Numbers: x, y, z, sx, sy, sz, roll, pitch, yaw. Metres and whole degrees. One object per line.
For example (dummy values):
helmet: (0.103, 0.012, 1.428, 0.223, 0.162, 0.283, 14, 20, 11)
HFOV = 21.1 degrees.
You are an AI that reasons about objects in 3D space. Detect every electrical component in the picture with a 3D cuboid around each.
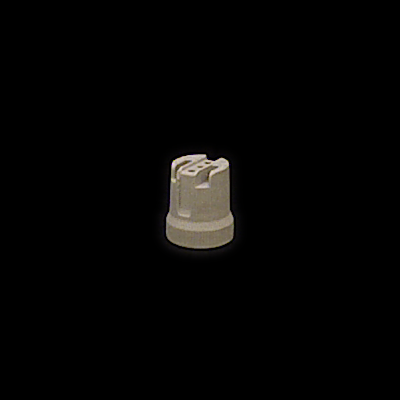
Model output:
electrical component: (0.000, 0.000, 0.641, 0.040, 0.046, 0.040, 1, 21, 0)
